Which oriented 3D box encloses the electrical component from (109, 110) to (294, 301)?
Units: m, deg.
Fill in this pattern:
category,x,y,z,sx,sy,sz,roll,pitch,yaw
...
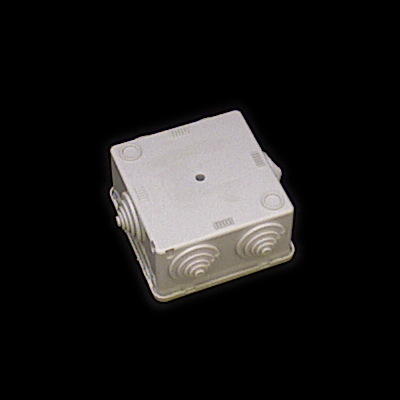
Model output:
category,x,y,z,sx,sy,sz,roll,pitch,yaw
electrical component,0.000,0.000,0.632,0.100,0.099,0.049,-17,-35,-13
